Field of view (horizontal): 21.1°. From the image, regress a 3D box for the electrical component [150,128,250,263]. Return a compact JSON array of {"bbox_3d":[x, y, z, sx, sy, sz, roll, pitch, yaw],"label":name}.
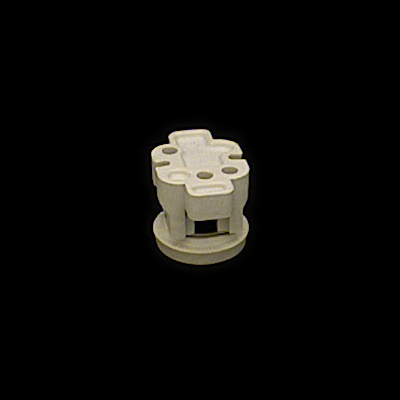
[{"bbox_3d":[0.000,0.000,0.643,0.058,0.057,0.077,-7,32,-10],"label":"electrical component"}]
